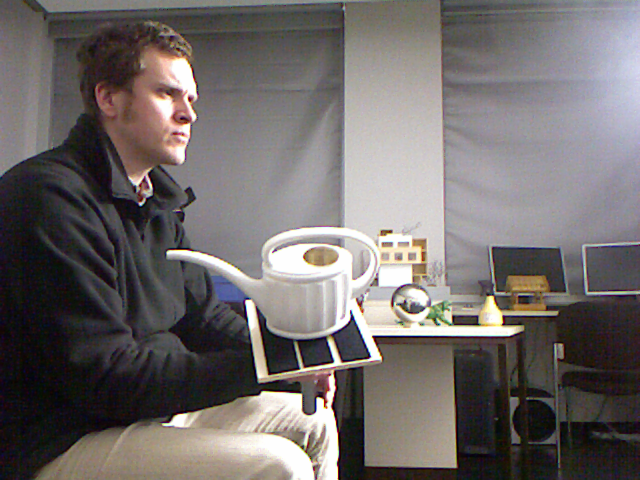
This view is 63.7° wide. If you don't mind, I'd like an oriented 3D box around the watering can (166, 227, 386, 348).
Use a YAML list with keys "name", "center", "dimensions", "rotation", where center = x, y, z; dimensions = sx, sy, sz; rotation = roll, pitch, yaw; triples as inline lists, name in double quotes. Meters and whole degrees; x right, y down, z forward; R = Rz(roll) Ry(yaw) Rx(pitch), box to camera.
- name: "watering can"
  center: [-0.063, 0.078, 0.856]
  dimensions: [0.349, 0.220, 0.106]
  rotation: [-5, 34, -8]
